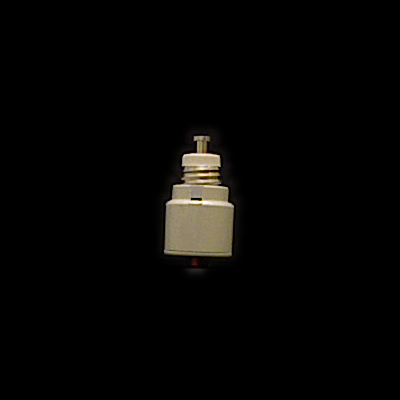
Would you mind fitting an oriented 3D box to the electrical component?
[{"bbox_3d":[0.000,0.000,0.649,0.040,0.078,0.040,2,1,0],"label":"electrical component"}]
